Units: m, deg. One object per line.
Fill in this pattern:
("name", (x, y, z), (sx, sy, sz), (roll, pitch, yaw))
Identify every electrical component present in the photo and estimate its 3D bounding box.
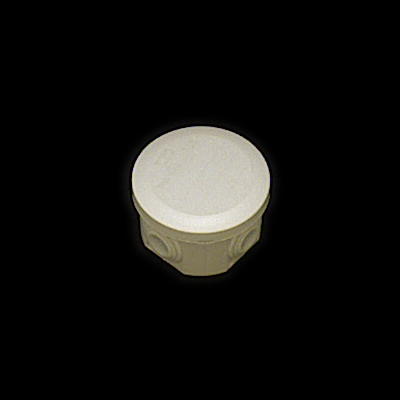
("electrical component", (0.000, 0.000, 0.633), (0.080, 0.080, 0.051), (0, -38, -1))
